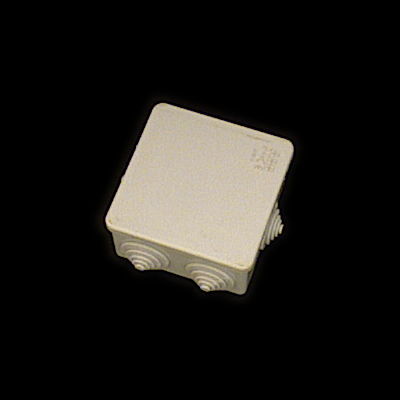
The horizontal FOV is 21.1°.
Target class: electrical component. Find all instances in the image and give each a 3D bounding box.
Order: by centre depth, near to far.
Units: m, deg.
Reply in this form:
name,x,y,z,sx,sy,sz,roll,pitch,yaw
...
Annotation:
name,x,y,z,sx,sy,sz,roll,pitch,yaw
electrical component,0.000,0.000,0.641,0.099,0.100,0.048,18,-25,8
